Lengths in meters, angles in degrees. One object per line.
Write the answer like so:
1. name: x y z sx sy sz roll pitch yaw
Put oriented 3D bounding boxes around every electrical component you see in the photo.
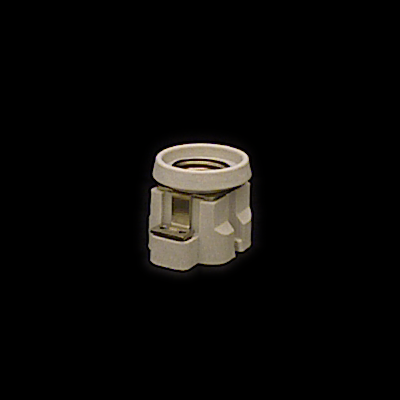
1. electrical component: 0.000 0.000 0.637 0.057 0.057 0.078 13 24 28
